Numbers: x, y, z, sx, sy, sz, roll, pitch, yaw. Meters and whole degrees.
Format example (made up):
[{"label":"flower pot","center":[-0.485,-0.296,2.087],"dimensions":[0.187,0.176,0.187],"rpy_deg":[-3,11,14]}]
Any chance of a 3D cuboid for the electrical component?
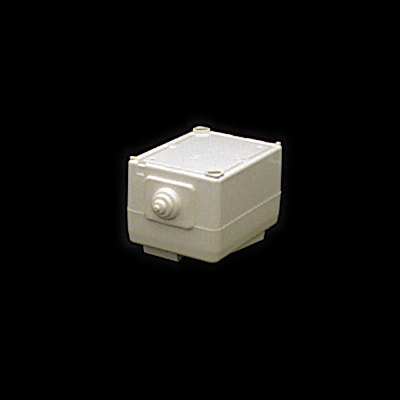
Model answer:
[{"label":"electrical component","center":[0.000,0.000,0.632],"dimensions":[0.061,0.061,0.096],"rpy_deg":[13,24,28]}]
